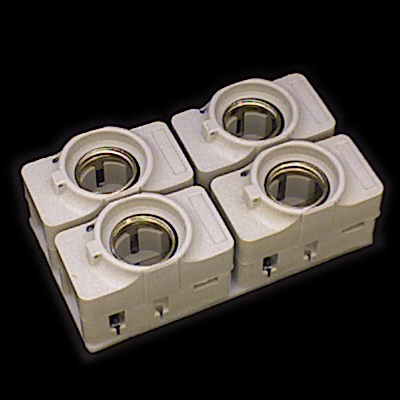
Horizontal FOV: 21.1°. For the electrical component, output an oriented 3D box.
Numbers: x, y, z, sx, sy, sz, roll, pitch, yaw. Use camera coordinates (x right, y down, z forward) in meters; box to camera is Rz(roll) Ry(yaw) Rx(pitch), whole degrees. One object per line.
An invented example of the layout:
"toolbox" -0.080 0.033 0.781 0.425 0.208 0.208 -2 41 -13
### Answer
"electrical component" 0.000 0.000 0.626 0.186 0.105 0.060 -20 -35 -15
